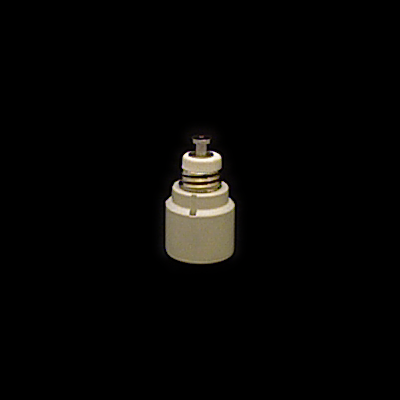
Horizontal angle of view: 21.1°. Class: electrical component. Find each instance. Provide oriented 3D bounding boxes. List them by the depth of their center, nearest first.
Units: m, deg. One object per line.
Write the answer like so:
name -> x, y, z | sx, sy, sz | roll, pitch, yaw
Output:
electrical component -> 0.000, 0.000, 0.637 | 0.040, 0.079, 0.039 | 1, 22, 0
